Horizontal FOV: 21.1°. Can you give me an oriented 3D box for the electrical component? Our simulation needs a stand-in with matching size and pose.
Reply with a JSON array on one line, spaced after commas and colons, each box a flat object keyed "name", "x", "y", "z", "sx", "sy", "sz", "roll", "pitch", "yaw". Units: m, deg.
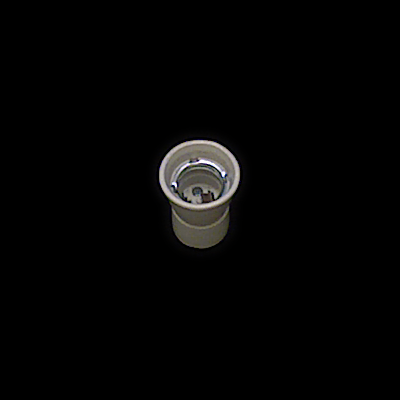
[{"name": "electrical component", "x": 0.000, "y": 0.000, "z": 0.626, "sx": 0.044, "sy": 0.044, "sz": 0.065, "roll": 0, "pitch": -28, "yaw": 0}]
